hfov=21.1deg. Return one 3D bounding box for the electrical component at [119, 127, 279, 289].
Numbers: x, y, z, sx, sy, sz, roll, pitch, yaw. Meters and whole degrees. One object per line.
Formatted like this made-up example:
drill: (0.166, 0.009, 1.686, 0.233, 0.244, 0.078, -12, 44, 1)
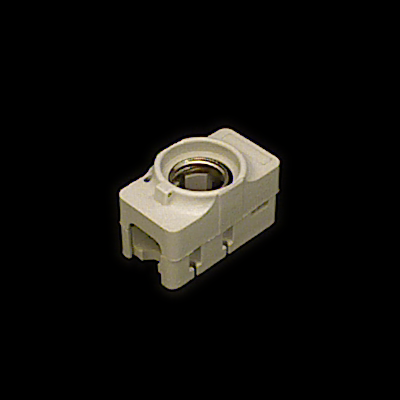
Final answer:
electrical component: (0.000, 0.000, 0.639, 0.090, 0.056, 0.049, -33, 52, -32)
